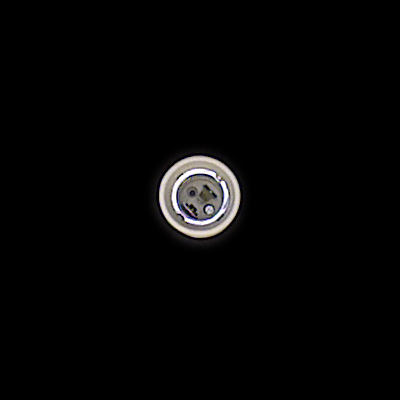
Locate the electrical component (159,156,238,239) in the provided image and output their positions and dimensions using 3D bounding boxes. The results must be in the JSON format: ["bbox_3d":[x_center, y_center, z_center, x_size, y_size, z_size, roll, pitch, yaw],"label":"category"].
[{"bbox_3d":[0.000,0.000,0.628,0.045,0.045,0.055,0,-6,1],"label":"electrical component"}]
